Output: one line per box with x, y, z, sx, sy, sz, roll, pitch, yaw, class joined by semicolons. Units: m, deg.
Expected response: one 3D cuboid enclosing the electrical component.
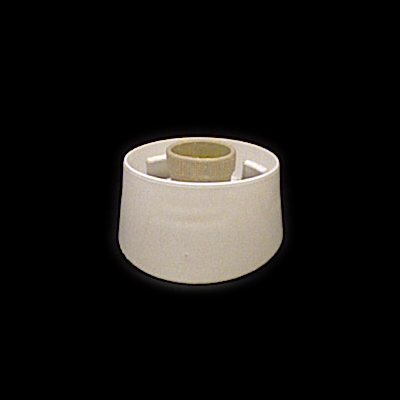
0.000;0.000;0.639;0.099;0.065;0.097;1;21;0;electrical component
